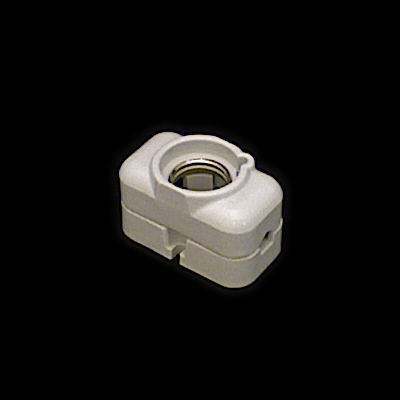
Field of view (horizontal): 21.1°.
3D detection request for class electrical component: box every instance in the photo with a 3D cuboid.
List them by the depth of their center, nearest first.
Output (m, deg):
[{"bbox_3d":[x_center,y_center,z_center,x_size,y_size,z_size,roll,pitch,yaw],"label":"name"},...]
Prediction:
[{"bbox_3d":[0.000,0.000,0.639,0.094,0.060,0.053,26,49,24],"label":"electrical component"}]
